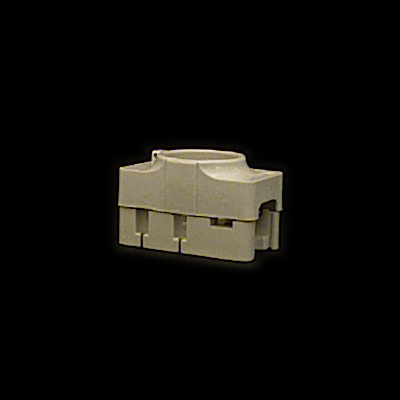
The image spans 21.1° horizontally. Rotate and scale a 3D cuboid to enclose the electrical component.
[{"bbox_3d":[0.000,0.000,0.652,0.089,0.056,0.050,7,13,26],"label":"electrical component"}]
